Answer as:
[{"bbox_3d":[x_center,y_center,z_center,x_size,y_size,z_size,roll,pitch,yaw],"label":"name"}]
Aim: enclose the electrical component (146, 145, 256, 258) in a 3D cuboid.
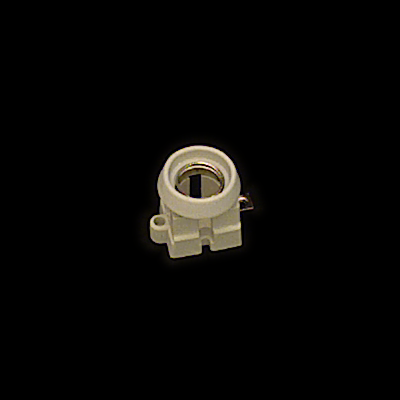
[{"bbox_3d":[0.000,0.000,0.639,0.067,0.048,0.056,-11,-34,-9],"label":"electrical component"}]
